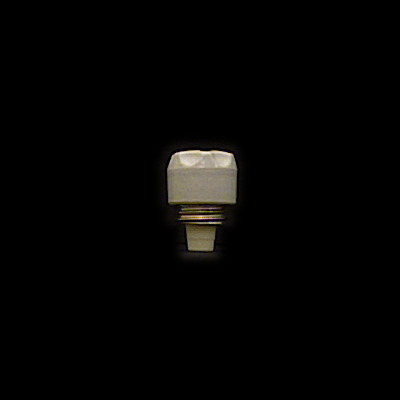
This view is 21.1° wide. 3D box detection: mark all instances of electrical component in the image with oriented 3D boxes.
[{"bbox_3d":[0.000,0.000,0.657,0.043,0.062,0.043,1,1,1],"label":"electrical component"}]
